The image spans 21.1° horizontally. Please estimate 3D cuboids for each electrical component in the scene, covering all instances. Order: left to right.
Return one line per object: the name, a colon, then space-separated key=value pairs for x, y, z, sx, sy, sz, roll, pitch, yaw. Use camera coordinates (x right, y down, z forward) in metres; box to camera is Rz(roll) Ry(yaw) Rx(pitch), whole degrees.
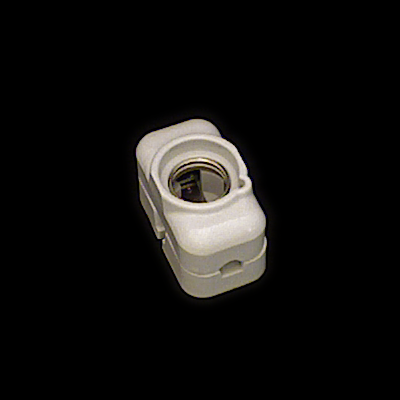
electrical component: x=0.000 y=0.000 z=0.636 sx=0.054 sy=0.094 sz=0.059 roll=-19 pitch=-34 yaw=-13
